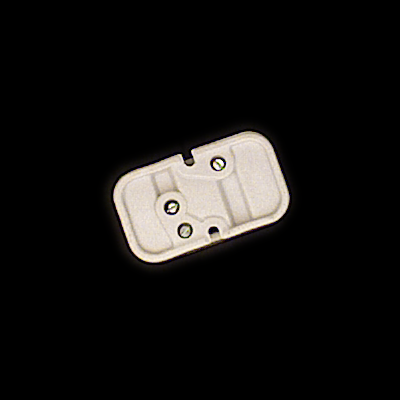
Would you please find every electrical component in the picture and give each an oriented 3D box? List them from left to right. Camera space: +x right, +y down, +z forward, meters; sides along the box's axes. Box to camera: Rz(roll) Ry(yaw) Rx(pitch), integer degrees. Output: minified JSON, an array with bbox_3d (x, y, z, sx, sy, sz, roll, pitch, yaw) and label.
[{"bbox_3d":[0.000,0.000,0.637,0.095,0.054,0.059,-19,-6,-2],"label":"electrical component"}]
